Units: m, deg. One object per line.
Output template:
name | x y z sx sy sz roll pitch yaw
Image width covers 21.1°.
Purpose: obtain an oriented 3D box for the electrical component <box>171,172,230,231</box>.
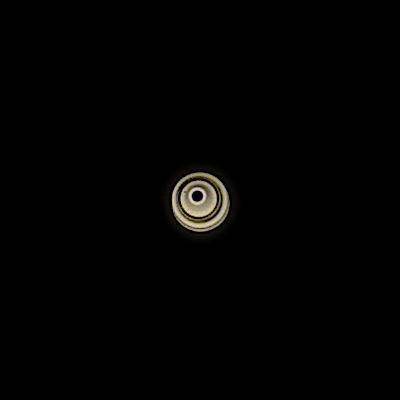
electrical component | 0.000 0.000 0.637 0.035 0.035 0.061 0 -5 2
